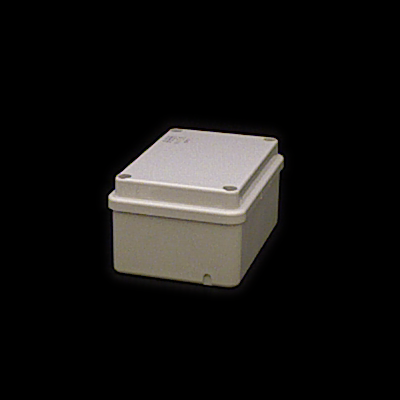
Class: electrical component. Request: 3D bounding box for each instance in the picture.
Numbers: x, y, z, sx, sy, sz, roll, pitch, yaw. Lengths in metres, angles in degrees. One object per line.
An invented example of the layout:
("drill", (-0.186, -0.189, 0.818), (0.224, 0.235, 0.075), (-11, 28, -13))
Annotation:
("electrical component", (0.000, 0.000, 0.639), (0.078, 0.058, 0.112), (7, 22, 15))
